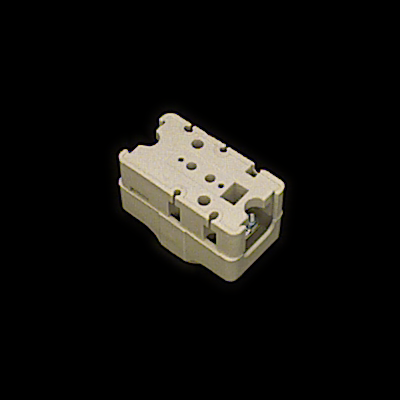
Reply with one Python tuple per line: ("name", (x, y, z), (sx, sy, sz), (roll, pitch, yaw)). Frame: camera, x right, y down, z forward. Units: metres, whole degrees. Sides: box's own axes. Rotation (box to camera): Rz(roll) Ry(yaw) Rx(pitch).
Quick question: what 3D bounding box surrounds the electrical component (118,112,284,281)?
("electrical component", (0.000, 0.000, 0.637), (0.089, 0.050, 0.056), (34, -31, 22))
